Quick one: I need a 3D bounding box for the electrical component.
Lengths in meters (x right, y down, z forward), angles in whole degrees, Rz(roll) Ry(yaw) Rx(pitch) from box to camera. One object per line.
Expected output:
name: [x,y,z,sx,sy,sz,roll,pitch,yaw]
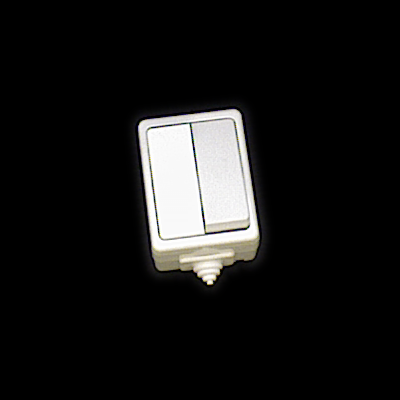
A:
electrical component: [0.000,0.000,0.625,0.062,0.097,0.060,-7,-17,-2]
